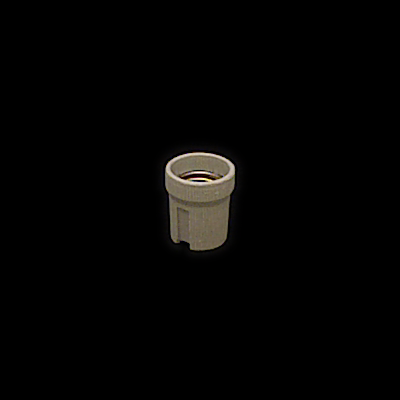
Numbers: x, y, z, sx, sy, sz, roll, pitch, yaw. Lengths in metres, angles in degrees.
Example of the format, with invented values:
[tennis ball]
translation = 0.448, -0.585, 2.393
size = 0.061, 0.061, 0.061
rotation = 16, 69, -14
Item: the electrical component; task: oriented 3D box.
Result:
[electrical component]
translation = 0.000, 0.000, 0.638
size = 0.040, 0.047, 0.039
rotation = 1, 31, 0
